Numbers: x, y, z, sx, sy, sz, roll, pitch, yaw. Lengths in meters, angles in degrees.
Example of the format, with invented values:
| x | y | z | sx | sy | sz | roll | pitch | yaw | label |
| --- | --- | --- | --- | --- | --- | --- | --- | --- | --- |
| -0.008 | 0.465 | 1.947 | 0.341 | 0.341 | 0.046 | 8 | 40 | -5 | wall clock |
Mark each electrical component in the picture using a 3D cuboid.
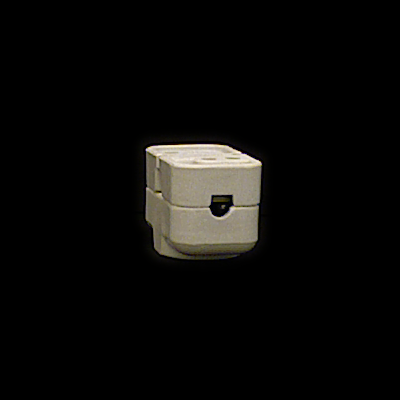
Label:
| x | y | z | sx | sy | sz | roll | pitch | yaw | label |
| --- | --- | --- | --- | --- | --- | --- | --- | --- | --- |
| 0.000 | 0.000 | 0.653 | 0.054 | 0.060 | 0.094 | -2 | 11 | -15 | electrical component |
